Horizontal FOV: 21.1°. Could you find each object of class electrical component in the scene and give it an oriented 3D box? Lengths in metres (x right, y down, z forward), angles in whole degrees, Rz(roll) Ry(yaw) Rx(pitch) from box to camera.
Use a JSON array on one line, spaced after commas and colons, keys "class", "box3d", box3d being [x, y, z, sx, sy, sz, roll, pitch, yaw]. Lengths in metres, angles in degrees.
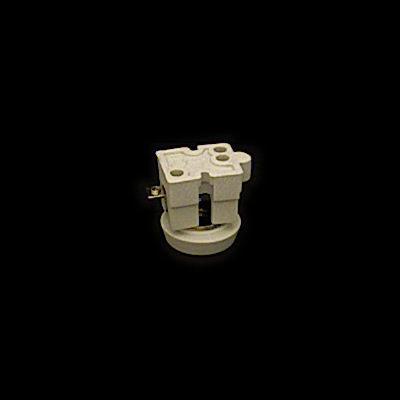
[{"class": "electrical component", "box3d": [0.000, 0.000, 0.644, 0.067, 0.056, 0.047, -7, 34, -11]}]
